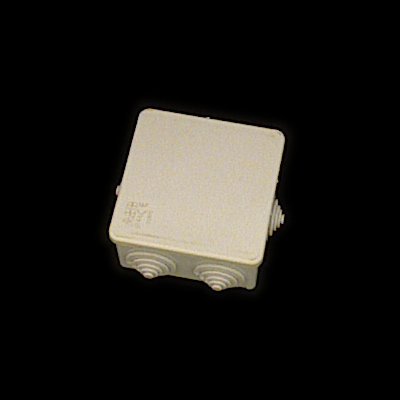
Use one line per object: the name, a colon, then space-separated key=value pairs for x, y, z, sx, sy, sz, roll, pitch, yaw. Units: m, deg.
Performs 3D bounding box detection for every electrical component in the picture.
electrical component: x=0.000 y=0.000 z=0.639 sx=0.099 sy=0.100 sz=0.048 roll=10 pitch=-26 yaw=5
